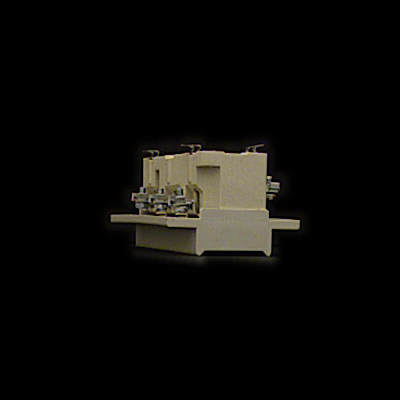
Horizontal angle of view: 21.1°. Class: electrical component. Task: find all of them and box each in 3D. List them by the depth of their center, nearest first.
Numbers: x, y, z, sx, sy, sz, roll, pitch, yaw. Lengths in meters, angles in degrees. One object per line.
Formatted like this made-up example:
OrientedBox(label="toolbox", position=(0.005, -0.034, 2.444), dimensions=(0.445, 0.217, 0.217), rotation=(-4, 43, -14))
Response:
OrientedBox(label="electrical component", position=(0.000, 0.000, 0.655), dimensions=(0.079, 0.063, 0.120), rotation=(0, 0, -20))
